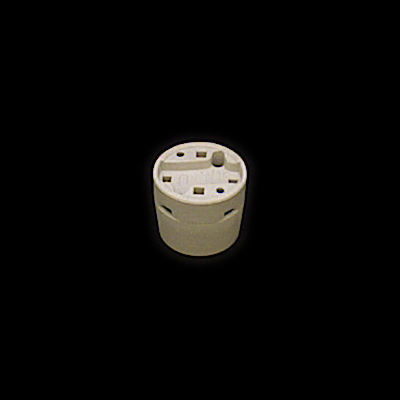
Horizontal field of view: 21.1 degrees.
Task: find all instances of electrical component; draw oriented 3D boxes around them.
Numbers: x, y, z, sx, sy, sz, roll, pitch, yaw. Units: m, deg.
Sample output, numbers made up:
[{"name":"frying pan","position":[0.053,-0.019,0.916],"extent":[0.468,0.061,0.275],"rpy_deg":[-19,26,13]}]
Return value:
[{"name":"electrical component","position":[0.000,0.000,0.637],"extent":[0.055,0.047,0.055],"rpy_deg":[0,42,0]}]
